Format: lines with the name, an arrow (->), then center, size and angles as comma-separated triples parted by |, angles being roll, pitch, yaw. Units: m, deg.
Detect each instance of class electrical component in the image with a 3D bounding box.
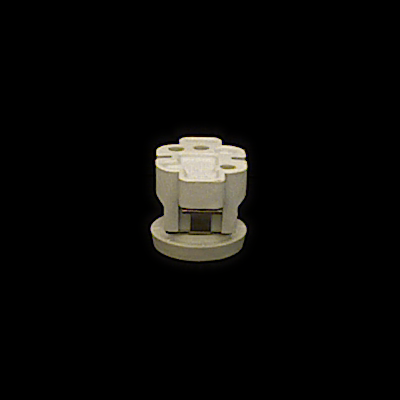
electrical component -> 0.000, 0.000, 0.645 | 0.058, 0.057, 0.077 | 1, 23, -3
